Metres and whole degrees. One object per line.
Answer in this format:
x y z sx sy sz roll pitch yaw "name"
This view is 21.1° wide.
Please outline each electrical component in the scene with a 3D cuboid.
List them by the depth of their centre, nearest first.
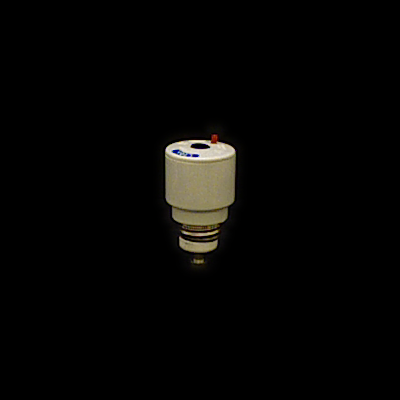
0.000 0.000 0.637 0.040 0.079 0.039 1 21 0 "electrical component"
